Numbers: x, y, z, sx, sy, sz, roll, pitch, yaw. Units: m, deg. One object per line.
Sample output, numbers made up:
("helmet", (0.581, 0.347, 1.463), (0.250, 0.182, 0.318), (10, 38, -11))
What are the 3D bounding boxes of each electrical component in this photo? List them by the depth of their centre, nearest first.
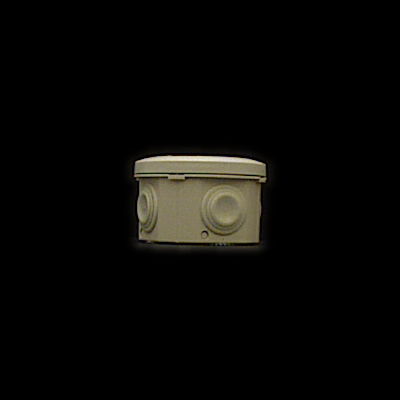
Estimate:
("electrical component", (0.000, 0.000, 0.651), (0.080, 0.051, 0.080), (1, 0, 0))
